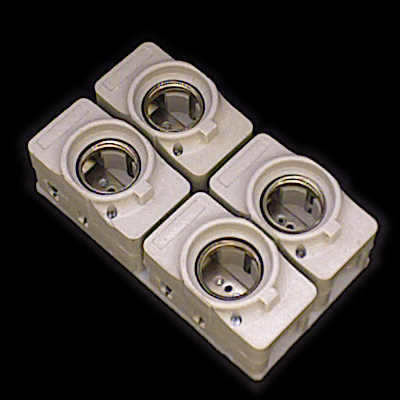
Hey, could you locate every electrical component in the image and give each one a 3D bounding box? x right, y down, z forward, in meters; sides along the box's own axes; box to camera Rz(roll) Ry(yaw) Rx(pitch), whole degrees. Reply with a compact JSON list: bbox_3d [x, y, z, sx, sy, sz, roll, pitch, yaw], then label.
[{"bbox_3d":[0.000,0.000,0.626,0.186,0.106,0.060,40,-21,18],"label":"electrical component"}]
